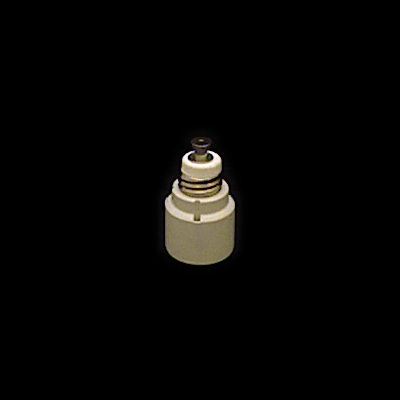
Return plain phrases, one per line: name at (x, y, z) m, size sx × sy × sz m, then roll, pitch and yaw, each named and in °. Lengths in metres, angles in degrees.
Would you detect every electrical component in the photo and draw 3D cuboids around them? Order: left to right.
electrical component at (0.000, 0.000, 0.631) m, size 0.040 × 0.079 × 0.039 m, roll 1°, pitch 32°, yaw -1°
